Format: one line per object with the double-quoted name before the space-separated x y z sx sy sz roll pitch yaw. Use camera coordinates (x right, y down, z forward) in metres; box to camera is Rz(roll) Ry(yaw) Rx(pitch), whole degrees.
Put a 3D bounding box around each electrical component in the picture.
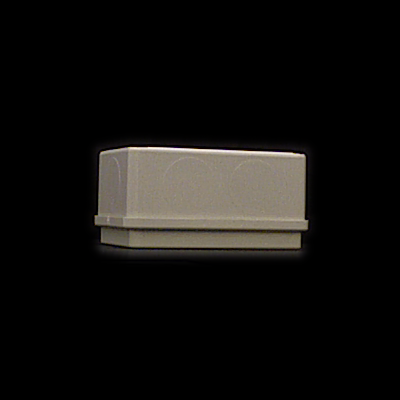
"electrical component" 0.000 0.000 0.649 0.113 0.057 0.078 1 1 -20
